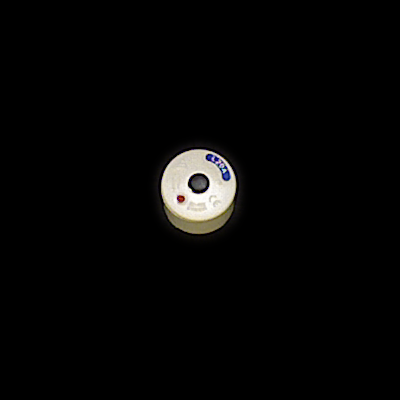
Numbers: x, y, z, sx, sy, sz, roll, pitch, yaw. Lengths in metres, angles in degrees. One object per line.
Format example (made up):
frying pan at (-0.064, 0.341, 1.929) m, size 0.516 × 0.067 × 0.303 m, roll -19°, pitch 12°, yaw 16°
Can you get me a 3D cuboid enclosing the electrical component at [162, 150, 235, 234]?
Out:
electrical component at (0.000, 0.000, 0.616) m, size 0.040 × 0.040 × 0.078 m, roll 0°, pitch -16°, yaw 0°
